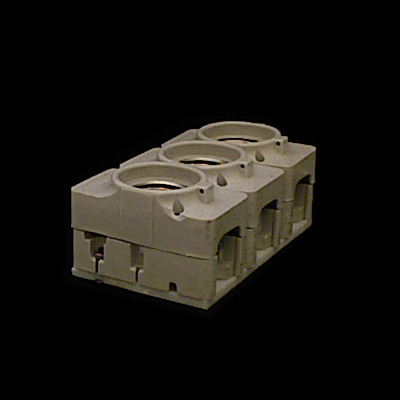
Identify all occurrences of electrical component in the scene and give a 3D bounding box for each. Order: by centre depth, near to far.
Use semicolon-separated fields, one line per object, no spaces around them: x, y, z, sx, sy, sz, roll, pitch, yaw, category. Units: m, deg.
0.000;0.000;0.645;0.089;0.063;0.148;12;23;25;electrical component
